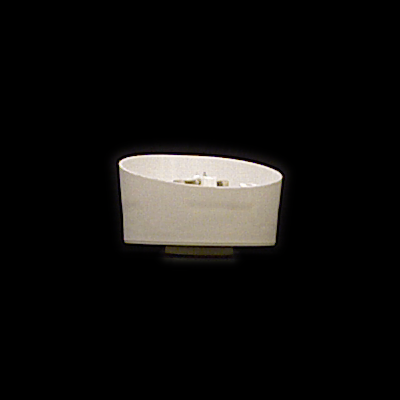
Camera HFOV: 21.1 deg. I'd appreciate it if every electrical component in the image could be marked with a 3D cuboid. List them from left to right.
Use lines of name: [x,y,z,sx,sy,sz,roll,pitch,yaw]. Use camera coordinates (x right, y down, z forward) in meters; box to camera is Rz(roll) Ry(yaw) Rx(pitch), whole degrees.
electrical component: [0.000,0.000,0.650,0.099,0.064,0.099,1,-1,0]
